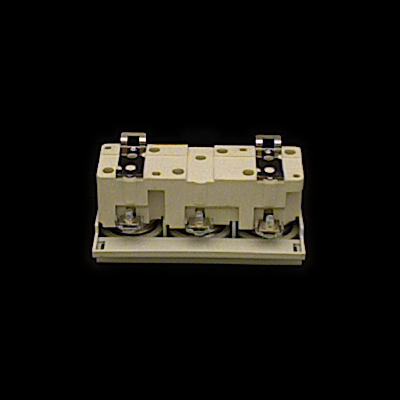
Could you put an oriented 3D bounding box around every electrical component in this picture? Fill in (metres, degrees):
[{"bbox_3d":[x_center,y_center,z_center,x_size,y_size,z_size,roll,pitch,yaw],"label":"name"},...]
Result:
[{"bbox_3d":[0.000,0.000,0.639,0.121,0.064,0.077,1,33,0],"label":"electrical component"}]
